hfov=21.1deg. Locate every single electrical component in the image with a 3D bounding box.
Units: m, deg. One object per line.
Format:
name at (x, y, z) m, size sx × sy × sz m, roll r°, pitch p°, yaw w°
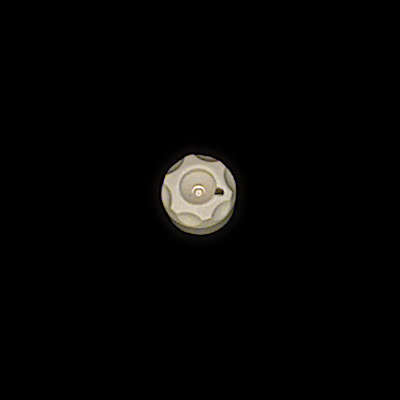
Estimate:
electrical component at (0.000, 0.000, 0.634) m, size 0.043 × 0.043 × 0.061 m, roll 0°, pitch -16°, yaw 1°
